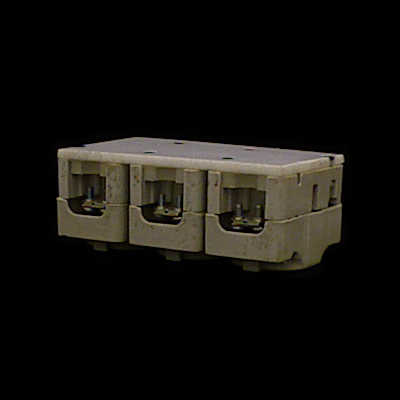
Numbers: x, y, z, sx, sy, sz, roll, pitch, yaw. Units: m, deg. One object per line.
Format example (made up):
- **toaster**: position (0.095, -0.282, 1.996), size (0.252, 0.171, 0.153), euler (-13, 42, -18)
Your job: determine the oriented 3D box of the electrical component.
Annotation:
- **electrical component**: position (0.000, 0.000, 0.650), size (0.149, 0.062, 0.089), euler (6, 11, 29)
